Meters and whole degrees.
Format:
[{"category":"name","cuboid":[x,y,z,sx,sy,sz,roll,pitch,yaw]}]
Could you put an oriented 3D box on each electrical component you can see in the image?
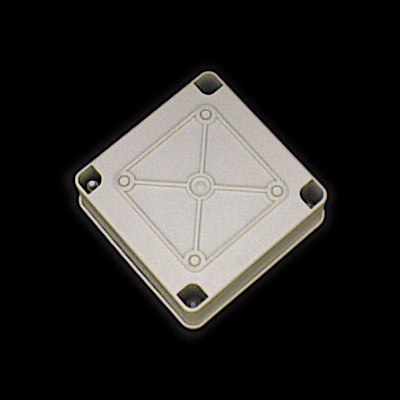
[{"category":"electrical component","cuboid":[0.000,0.000,0.627,0.109,0.109,0.056,-40,-14,-11]}]
